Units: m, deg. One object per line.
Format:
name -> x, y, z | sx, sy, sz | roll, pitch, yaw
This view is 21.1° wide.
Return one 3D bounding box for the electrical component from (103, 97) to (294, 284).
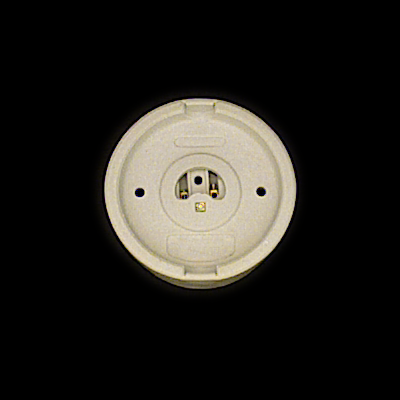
electrical component -> 0.000, 0.000, 0.633 | 0.108, 0.108, 0.060 | 0, -17, 0
